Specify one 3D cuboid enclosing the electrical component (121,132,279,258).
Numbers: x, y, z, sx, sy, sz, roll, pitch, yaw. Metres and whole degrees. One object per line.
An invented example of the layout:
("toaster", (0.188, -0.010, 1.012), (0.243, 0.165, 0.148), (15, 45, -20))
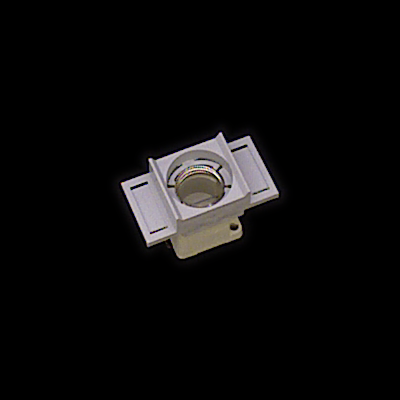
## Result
("electrical component", (0.000, 0.000, 0.625), (0.081, 0.042, 0.064), (-20, -26, -10))
